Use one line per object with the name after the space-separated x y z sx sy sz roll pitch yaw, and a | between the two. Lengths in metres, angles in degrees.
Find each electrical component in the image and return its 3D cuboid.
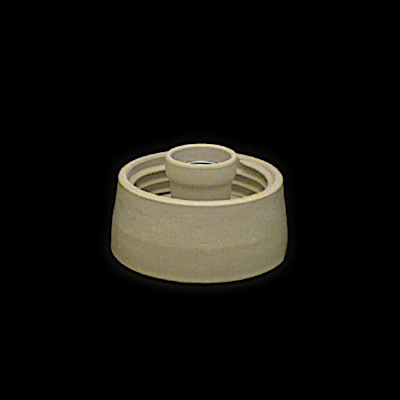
0.000 0.000 0.646 0.108 0.061 0.106 1 21 0 | electrical component
